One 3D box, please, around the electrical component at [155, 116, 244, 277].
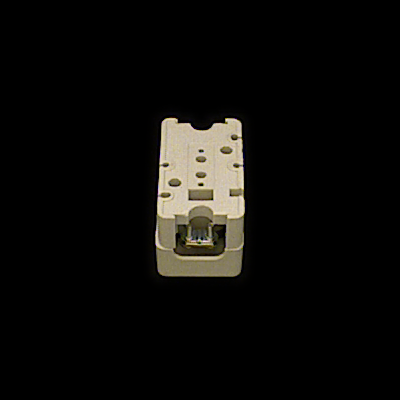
[{"bbox_3d":[0.000,0.000,0.639,0.050,0.056,0.089,1,43,0],"label":"electrical component"}]
